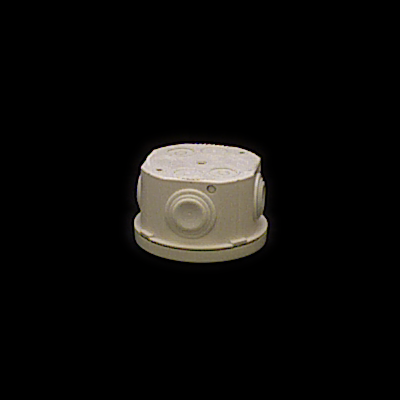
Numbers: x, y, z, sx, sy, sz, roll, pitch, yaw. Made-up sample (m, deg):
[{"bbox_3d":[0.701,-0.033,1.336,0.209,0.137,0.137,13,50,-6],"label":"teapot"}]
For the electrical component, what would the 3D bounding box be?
[{"bbox_3d":[0.000,0.000,0.640,0.080,0.051,0.079,1,21,0],"label":"electrical component"}]
